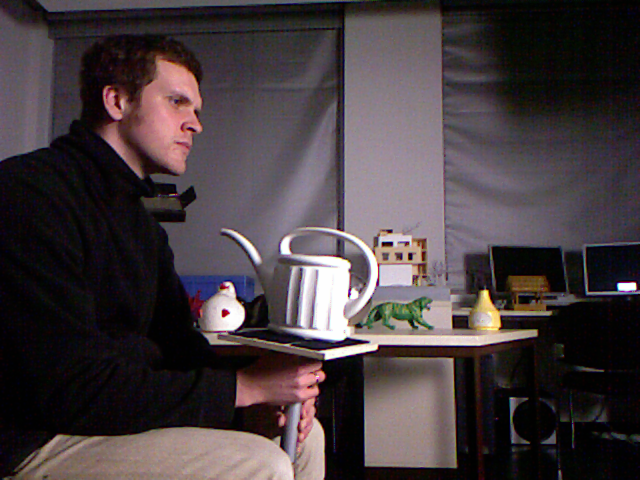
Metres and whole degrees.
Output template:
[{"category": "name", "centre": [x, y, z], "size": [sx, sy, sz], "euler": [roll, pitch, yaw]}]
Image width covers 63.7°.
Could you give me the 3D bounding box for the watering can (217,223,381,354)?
[{"category": "watering can", "centre": [-0.053, 0.080, 0.919], "size": [0.348, 0.225, 0.104], "euler": [4, -2, 31]}]
